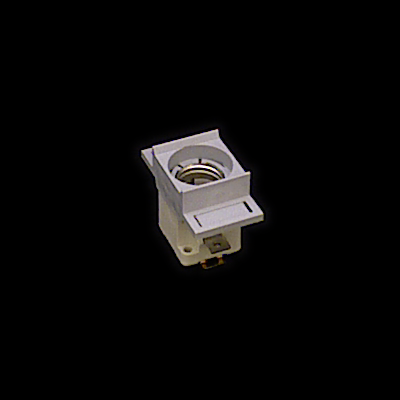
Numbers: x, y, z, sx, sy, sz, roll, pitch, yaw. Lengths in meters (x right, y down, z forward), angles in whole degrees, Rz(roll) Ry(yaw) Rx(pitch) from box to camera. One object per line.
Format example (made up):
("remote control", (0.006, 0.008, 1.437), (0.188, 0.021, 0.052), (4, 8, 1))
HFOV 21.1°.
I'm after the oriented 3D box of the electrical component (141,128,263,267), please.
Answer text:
("electrical component", (0.000, 0.000, 0.627), (0.042, 0.064, 0.080), (-15, 44, -19))
